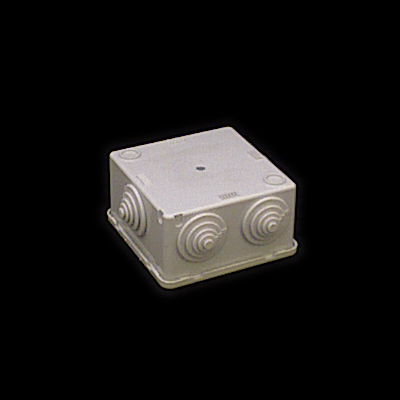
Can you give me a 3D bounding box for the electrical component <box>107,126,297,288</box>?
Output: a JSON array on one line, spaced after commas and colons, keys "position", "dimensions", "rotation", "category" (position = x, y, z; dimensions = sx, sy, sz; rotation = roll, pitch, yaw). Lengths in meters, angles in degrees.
[{"position": [0.000, 0.000, 0.636], "dimensions": [0.100, 0.049, 0.098], "rotation": [-14, 34, -23], "category": "electrical component"}]
